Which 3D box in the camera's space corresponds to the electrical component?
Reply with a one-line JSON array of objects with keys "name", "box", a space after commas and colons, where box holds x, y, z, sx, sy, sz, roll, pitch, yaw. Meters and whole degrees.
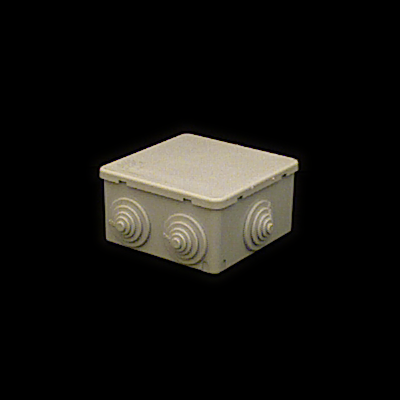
[{"name": "electrical component", "box": [0.000, 0.000, 0.647, 0.098, 0.049, 0.100, 16, 26, 32]}]
